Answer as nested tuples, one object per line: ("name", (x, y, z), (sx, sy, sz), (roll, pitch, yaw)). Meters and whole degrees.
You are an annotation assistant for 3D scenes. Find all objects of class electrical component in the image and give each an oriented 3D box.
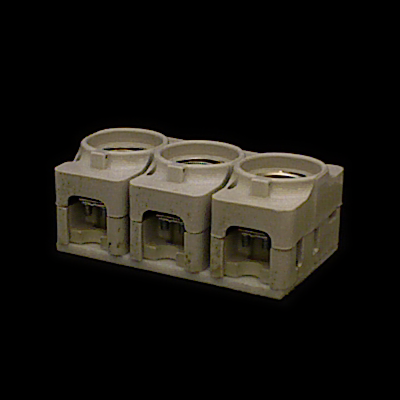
("electrical component", (0.000, 0.000, 0.643), (0.149, 0.063, 0.088), (10, 23, 25))
